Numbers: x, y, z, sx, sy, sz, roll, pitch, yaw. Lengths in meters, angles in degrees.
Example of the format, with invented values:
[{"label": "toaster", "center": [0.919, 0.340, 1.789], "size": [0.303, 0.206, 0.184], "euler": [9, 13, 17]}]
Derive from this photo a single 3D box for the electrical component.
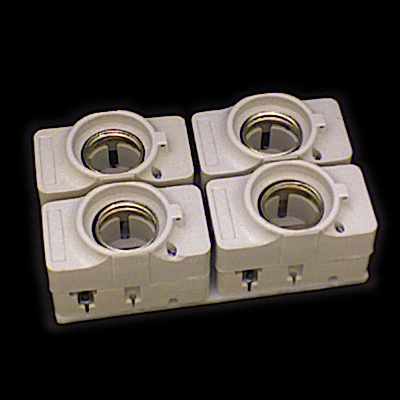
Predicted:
[{"label": "electrical component", "center": [0.000, 0.000, 0.628], "size": [0.186, 0.105, 0.060], "euler": [-7, -37, -6]}]
